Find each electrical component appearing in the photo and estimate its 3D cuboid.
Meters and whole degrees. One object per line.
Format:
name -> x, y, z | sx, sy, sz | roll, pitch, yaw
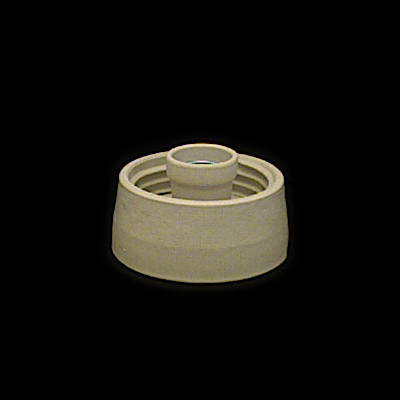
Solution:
electrical component -> 0.000, 0.000, 0.646 | 0.108, 0.061, 0.106 | 1, 21, 0
